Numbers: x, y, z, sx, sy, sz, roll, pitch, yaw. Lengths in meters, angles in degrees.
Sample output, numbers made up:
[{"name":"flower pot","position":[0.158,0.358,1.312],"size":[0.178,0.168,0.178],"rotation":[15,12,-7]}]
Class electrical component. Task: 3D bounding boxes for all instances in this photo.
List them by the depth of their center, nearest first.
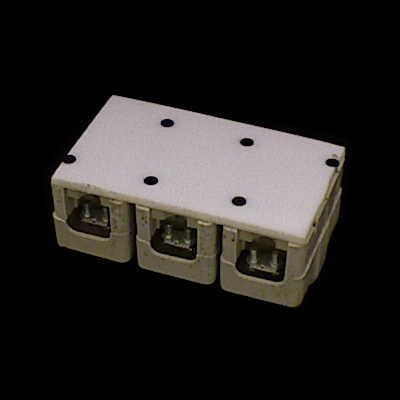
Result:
[{"name":"electrical component","position":[0.000,0.000,0.636],"size":[0.149,0.063,0.088],"rotation":[14,43,15]}]
